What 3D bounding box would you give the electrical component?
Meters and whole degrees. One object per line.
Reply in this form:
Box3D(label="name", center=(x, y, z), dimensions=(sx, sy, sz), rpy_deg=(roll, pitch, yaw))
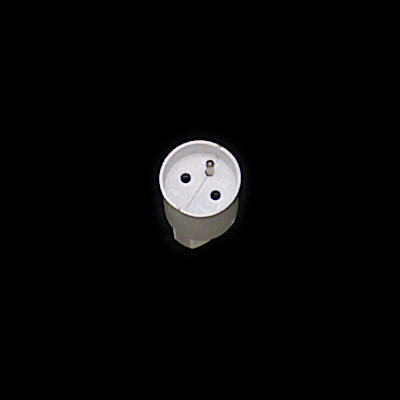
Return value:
Box3D(label="electrical component", center=(0.000, 0.000, 0.616), dimensions=(0.043, 0.043, 0.080), rpy_deg=(0, -17, -1))
